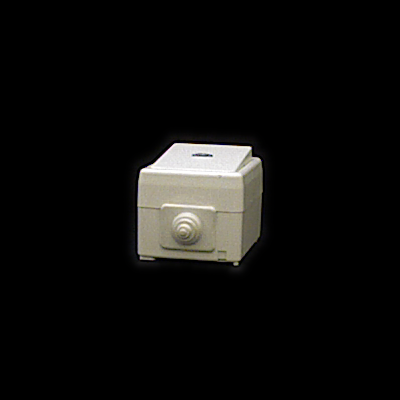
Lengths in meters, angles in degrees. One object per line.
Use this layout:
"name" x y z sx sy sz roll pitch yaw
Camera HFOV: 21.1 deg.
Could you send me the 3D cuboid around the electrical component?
"electrical component" 0.000 0.000 0.642 0.061 0.061 0.095 3 10 11
